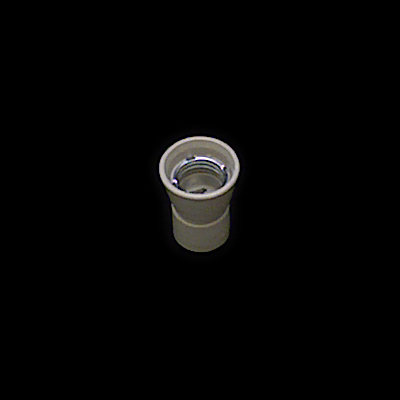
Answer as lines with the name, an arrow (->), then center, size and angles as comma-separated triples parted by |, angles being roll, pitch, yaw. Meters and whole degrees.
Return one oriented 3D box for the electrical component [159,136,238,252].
electrical component -> 0.000, 0.000, 0.625 | 0.044, 0.044, 0.065 | 0, -37, 1
